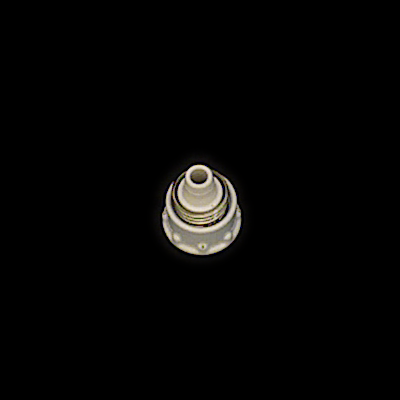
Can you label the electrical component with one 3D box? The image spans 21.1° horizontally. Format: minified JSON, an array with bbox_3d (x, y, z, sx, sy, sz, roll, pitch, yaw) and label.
[{"bbox_3d":[0.000,0.000,0.633,0.048,0.048,0.062,0,-28,1],"label":"electrical component"}]
